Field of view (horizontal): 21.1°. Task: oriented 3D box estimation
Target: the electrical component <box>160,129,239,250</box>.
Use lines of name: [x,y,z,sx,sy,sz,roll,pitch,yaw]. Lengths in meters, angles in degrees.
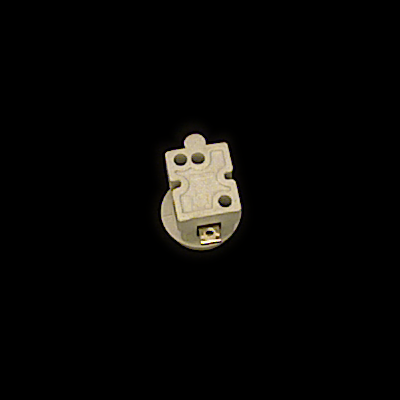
electrical component: [0.000,0.000,0.637,0.048,0.066,0.055,-9,-25,-5]
